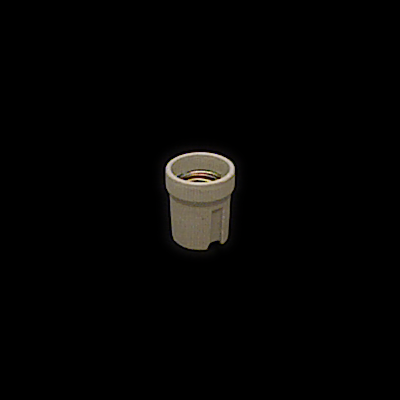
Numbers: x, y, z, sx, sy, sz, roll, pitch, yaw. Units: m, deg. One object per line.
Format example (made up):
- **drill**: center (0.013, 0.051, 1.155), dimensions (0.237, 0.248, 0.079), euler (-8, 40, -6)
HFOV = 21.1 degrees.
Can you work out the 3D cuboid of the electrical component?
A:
- **electrical component**: center (0.000, 0.000, 0.638), dimensions (0.040, 0.047, 0.039), euler (1, 31, 0)
